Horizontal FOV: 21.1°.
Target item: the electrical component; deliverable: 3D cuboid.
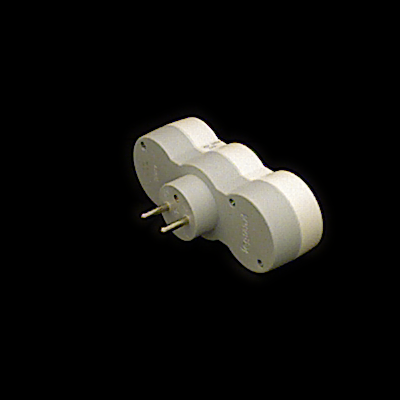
[{"bbox_3d":[0.000,0.000,0.643,0.074,0.053,0.135,-24,40,-32],"label":"electrical component"}]
